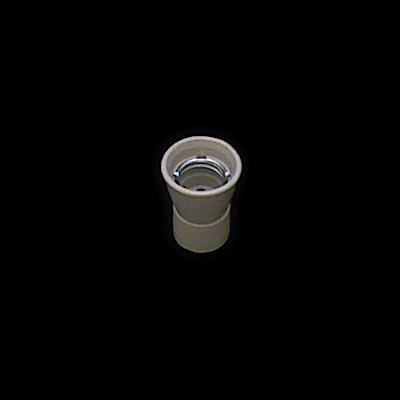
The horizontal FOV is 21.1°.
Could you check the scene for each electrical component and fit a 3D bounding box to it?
[{"bbox_3d":[0.000,0.000,0.628,0.044,0.044,0.065,0,-39,0],"label":"electrical component"}]
